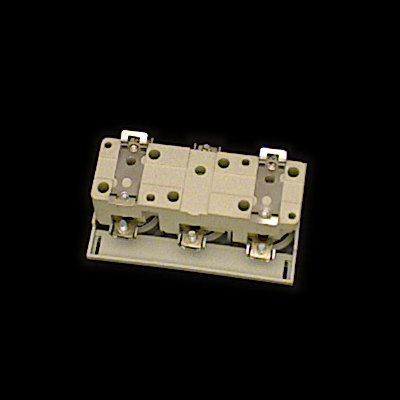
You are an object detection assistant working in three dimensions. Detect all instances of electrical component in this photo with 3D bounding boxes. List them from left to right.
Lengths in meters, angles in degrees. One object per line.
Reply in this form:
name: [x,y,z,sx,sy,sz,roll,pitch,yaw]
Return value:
electrical component: [0.000,0.000,0.632,0.121,0.079,0.063,7,-26,3]
